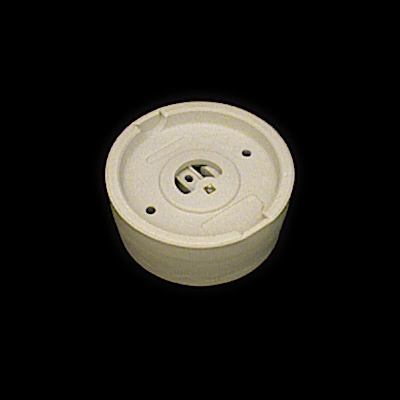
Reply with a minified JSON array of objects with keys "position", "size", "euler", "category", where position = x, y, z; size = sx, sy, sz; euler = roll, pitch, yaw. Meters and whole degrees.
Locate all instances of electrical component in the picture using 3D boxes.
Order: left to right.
[{"position":[0.000,0.000,0.635],"size":[0.108,0.107,0.060],"euler":[0,-37,0],"category":"electrical component"}]
